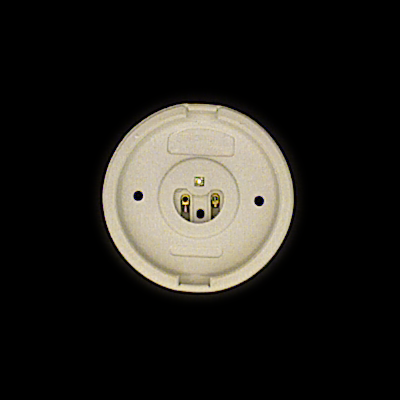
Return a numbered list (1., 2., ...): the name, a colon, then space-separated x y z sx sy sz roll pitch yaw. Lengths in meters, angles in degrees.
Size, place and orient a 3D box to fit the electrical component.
1. electrical component: 0.000 0.000 0.635 0.108 0.108 0.060 0 -5 0
